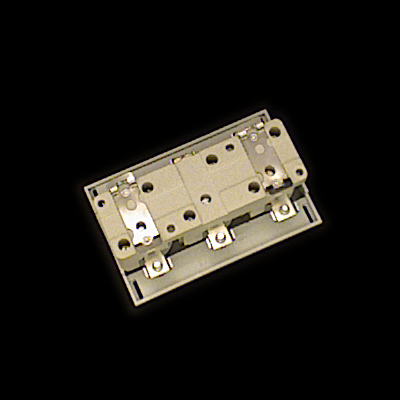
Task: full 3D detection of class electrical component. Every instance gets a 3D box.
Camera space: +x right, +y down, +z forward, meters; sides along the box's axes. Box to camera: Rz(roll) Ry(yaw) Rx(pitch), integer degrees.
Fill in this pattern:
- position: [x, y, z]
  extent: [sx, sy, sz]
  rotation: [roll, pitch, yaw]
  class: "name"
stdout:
- position: [0.000, 0.000, 0.634]
  extent: [0.122, 0.078, 0.063]
  rotation: [-24, -16, -7]
  class: "electrical component"
